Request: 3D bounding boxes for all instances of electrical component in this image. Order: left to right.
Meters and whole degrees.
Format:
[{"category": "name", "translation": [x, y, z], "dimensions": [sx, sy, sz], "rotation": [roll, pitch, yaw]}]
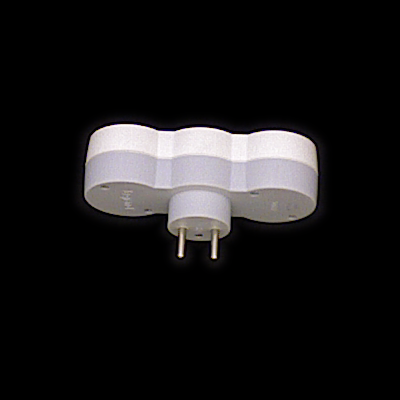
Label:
[{"category": "electrical component", "translation": [0.000, 0.000, 0.631], "dimensions": [0.138, 0.074, 0.052], "rotation": [2, -25, 0]}]
